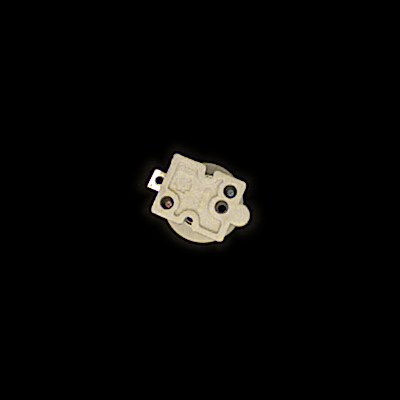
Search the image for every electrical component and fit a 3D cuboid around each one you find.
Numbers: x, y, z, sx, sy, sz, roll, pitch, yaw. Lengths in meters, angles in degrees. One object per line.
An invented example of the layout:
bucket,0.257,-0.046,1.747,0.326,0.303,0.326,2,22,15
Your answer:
electrical component,0.000,0.000,0.639,0.066,0.048,0.055,24,-4,4
